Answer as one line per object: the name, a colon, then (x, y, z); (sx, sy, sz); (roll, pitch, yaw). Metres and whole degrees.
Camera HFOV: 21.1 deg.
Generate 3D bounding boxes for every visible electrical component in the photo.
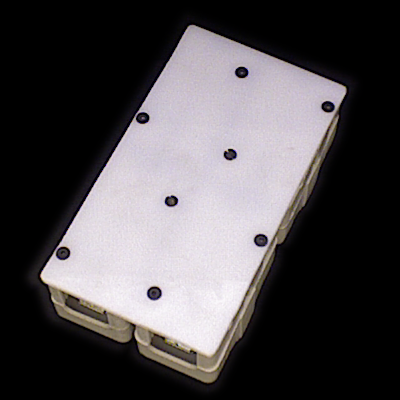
electrical component: (0.000, 0.000, 0.625); (0.105, 0.187, 0.060); (23, -25, 11)
